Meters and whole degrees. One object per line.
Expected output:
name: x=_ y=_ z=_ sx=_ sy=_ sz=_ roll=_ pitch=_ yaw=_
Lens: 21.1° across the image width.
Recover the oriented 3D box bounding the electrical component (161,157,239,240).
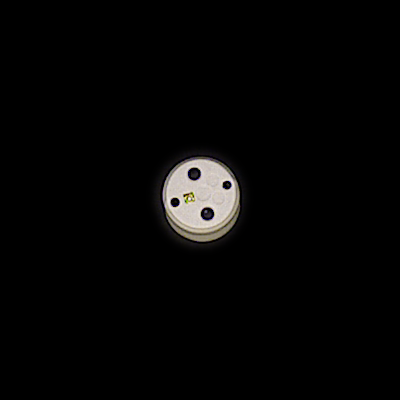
electrical component: x=0.000 y=0.000 z=0.630 sx=0.045 sy=0.045 sz=0.055 roll=0 pitch=-7 yaw=0
